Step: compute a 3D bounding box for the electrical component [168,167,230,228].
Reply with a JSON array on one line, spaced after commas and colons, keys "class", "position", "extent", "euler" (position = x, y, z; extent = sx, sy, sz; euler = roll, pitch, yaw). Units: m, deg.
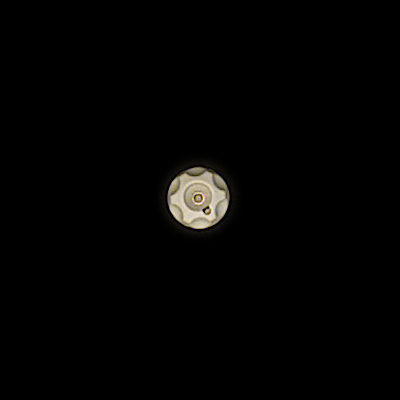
[{"class": "electrical component", "position": [0.000, 0.000, 0.634], "extent": [0.035, 0.035, 0.061], "euler": [0, -5, 1]}]
